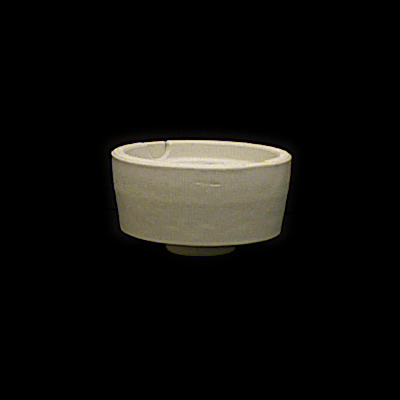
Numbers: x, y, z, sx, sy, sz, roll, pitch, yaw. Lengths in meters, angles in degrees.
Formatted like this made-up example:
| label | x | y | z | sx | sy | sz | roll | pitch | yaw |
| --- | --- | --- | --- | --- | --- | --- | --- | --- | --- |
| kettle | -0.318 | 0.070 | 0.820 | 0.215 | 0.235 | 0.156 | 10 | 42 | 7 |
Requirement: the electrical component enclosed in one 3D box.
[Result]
| label | x | y | z | sx | sy | sz | roll | pitch | yaw |
| --- | --- | --- | --- | --- | --- | --- | --- | --- | --- |
| electrical component | 0.000 | 0.000 | 0.651 | 0.108 | 0.061 | 0.107 | 2 | 11 | 0 |
